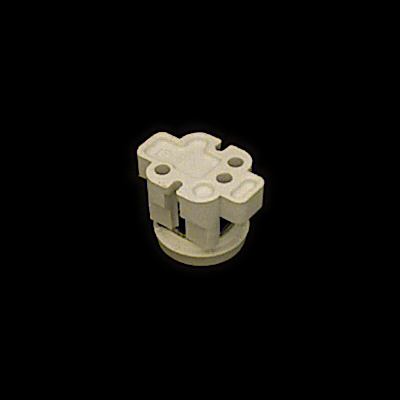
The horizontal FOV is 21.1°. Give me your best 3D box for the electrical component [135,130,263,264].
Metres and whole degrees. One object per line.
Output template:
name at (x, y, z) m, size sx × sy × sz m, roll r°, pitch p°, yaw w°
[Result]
electrical component at (0.000, 0.000, 0.639) m, size 0.077 × 0.057 × 0.058 m, roll 25°, pitch 49°, yaw 26°
